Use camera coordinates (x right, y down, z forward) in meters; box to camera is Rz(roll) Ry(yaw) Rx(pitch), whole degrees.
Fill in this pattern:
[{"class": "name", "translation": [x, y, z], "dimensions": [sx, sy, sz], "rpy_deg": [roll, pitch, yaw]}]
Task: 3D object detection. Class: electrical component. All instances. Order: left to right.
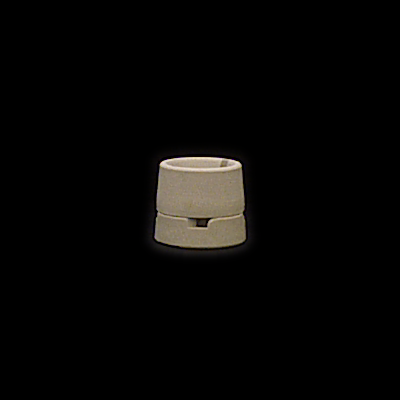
[{"class": "electrical component", "translation": [0.000, 0.000, 0.644], "dimensions": [0.055, 0.047, 0.055], "rpy_deg": [0, 11, 0]}]
